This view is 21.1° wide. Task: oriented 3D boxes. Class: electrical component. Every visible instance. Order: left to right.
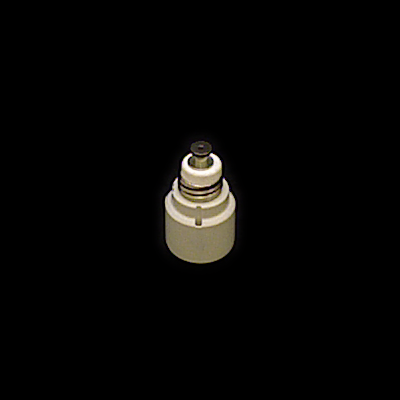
[{"bbox_3d":[0.000,0.000,0.626,0.040,0.079,0.039,1,43,0],"label":"electrical component"}]
